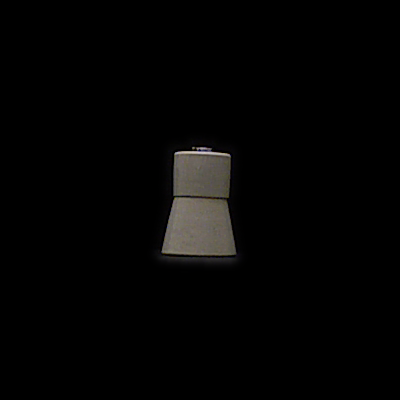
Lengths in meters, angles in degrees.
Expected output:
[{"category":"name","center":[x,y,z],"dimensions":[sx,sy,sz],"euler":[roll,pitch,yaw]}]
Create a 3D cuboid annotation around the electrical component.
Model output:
[{"category":"electrical component","center":[0.000,0.000,0.648],"dimensions":[0.044,0.065,0.044],"euler":[2,1,0]}]
